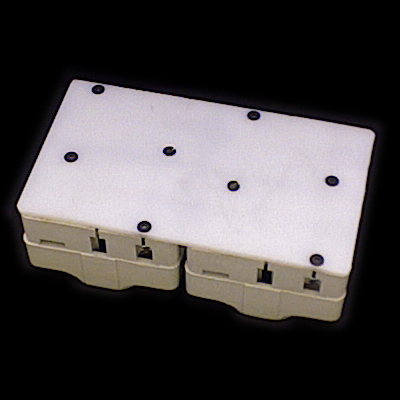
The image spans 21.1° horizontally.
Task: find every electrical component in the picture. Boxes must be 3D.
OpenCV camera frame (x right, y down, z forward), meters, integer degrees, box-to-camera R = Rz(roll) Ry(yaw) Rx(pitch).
[{"bbox_3d":[0.000,0.000,0.627,0.186,0.105,0.060,11,-37,8],"label":"electrical component"}]
